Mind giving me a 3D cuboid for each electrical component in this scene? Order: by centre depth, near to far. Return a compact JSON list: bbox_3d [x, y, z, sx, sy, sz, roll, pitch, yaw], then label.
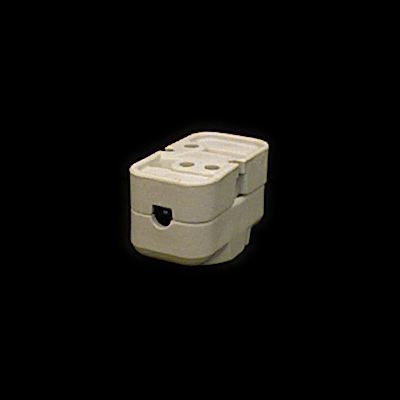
[{"bbox_3d":[0.000,0.000,0.646,0.053,0.060,0.095,12,24,25],"label":"electrical component"}]
